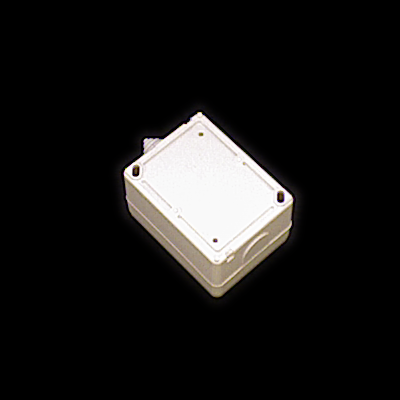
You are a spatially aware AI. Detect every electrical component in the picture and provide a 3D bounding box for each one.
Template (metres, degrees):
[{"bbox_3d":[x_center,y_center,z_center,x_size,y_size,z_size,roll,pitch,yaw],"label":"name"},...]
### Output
[{"bbox_3d":[0.000,0.000,0.629,0.062,0.096,0.061,-39,-21,-18],"label":"electrical component"}]
